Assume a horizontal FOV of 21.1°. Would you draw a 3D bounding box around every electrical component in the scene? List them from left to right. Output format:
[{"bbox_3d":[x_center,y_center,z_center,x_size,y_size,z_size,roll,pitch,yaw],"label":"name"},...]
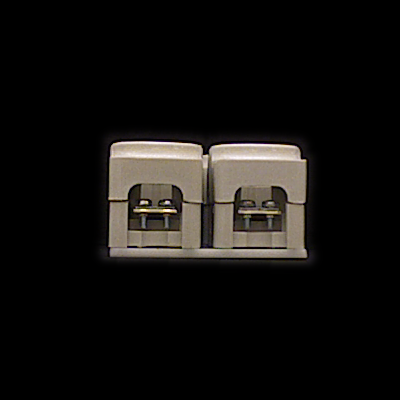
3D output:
[{"bbox_3d":[0.000,0.000,0.650,0.105,0.060,0.186,1,-1,-3],"label":"electrical component"}]
